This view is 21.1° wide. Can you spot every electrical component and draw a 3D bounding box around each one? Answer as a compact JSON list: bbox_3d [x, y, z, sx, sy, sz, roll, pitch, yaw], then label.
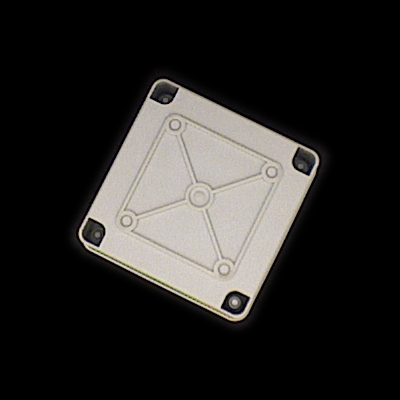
[{"bbox_3d":[0.000,0.000,0.628,0.109,0.109,0.056,26,-6,3],"label":"electrical component"}]
